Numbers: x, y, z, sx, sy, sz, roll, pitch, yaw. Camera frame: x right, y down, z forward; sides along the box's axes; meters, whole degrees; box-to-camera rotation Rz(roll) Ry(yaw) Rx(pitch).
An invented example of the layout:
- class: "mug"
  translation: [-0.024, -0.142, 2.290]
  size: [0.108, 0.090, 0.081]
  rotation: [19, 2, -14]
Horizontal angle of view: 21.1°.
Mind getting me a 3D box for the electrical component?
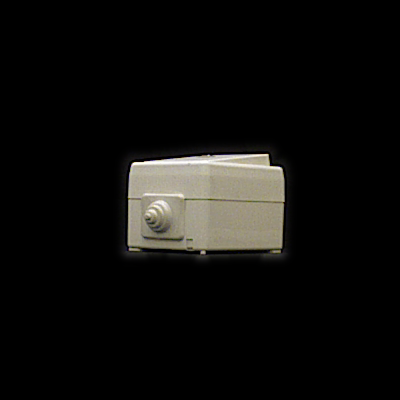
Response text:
- class: "electrical component"
  translation: [0.000, 0.000, 0.649]
  size: [0.061, 0.061, 0.096]
  rotation: [2, 0, 39]
